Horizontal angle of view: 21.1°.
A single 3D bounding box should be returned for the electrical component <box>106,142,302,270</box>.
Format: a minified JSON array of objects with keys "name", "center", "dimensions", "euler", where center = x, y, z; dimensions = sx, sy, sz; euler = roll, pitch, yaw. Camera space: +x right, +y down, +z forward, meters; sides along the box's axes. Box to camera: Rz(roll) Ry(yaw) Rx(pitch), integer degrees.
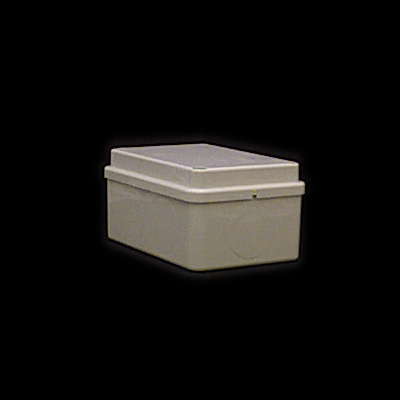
[{"name":"electrical component","center":[0.000,0.000,0.645],"dimensions":[0.078,0.057,0.112],"euler":[-5,12,-32]}]
